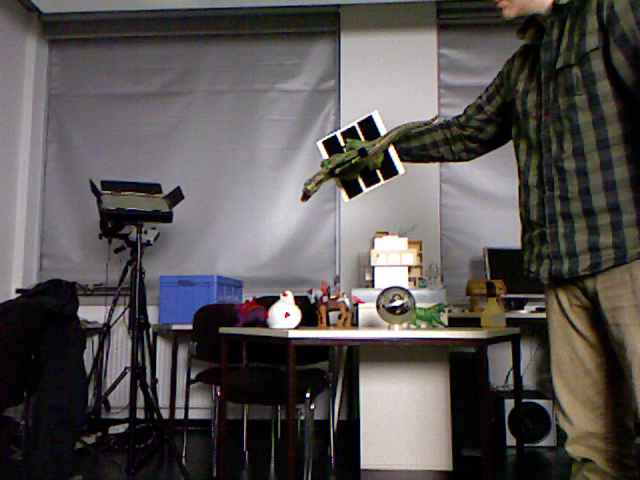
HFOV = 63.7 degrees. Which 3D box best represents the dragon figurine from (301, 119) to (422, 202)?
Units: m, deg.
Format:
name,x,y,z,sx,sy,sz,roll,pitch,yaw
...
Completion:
name,x,y,z,sx,sy,sz,roll,pitch,yaw
dragon figurine,0.112,-0.237,1.462,0.408,0.122,0.245,-33,5,12
